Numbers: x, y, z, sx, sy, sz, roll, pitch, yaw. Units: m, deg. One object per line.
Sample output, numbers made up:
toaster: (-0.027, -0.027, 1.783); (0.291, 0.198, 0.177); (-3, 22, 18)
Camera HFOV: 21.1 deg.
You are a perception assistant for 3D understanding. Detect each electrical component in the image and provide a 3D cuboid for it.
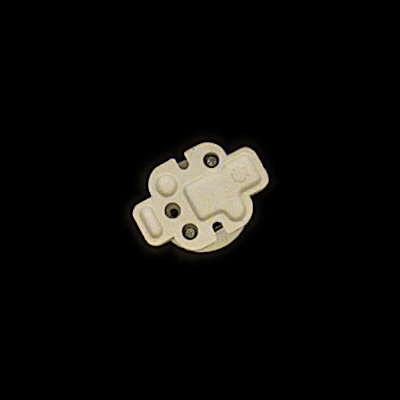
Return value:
electrical component: (0.000, 0.000, 0.637); (0.079, 0.058, 0.056); (-29, -6, -4)
